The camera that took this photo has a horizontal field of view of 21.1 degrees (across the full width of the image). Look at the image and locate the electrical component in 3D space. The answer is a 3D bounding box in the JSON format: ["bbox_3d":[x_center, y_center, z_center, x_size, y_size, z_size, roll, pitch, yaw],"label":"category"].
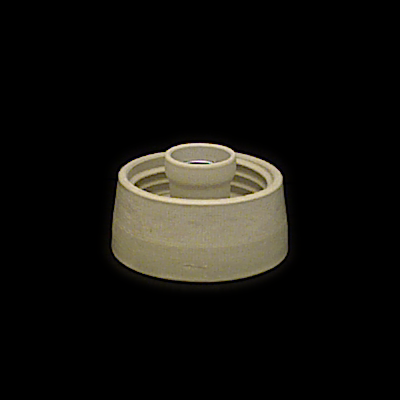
[{"bbox_3d":[0.000,0.000,0.647,0.108,0.061,0.106,1,21,0],"label":"electrical component"}]
